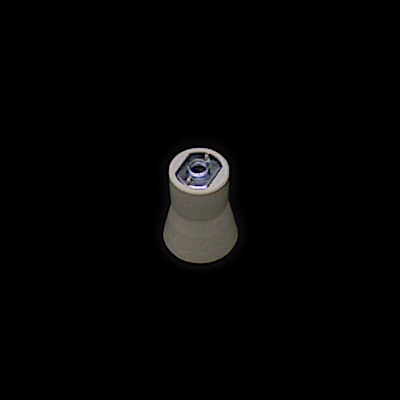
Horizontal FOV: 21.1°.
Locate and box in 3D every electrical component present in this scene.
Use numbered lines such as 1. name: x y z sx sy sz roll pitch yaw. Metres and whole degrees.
1. electrical component: 0.000 0.000 0.627 0.044 0.044 0.065 0 -38 1
